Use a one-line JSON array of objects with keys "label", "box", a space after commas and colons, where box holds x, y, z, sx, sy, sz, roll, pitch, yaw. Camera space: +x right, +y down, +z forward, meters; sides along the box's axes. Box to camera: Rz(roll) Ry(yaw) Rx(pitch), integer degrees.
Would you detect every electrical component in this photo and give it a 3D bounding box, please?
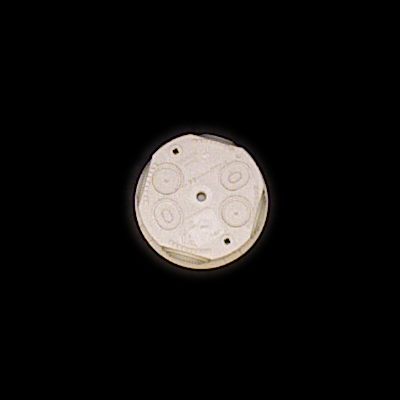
[{"label": "electrical component", "box": [0.000, 0.000, 0.634, 0.080, 0.080, 0.050, 0, -6, 0]}]
